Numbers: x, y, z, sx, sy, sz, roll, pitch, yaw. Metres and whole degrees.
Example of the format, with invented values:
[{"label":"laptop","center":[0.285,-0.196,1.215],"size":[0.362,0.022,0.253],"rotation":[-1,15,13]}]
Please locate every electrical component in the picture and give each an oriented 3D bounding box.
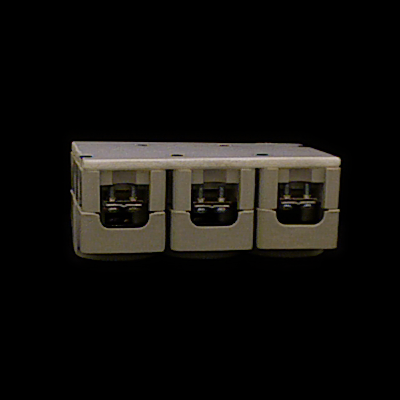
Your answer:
[{"label":"electrical component","center":[0.000,0.000,0.653],"size":[0.150,0.062,0.088],"rotation":[0,11,-10]}]
